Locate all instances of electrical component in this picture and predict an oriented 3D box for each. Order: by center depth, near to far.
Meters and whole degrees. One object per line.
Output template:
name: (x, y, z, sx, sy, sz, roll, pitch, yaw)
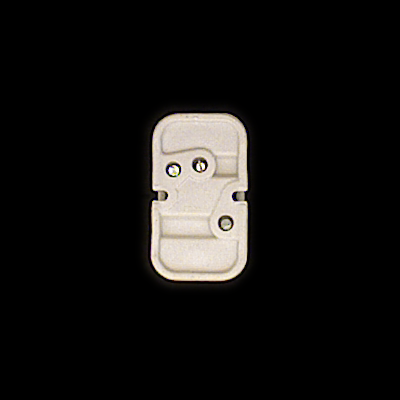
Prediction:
electrical component: (0.000, 0.000, 0.636, 0.054, 0.095, 0.059, 0, -6, 1)
